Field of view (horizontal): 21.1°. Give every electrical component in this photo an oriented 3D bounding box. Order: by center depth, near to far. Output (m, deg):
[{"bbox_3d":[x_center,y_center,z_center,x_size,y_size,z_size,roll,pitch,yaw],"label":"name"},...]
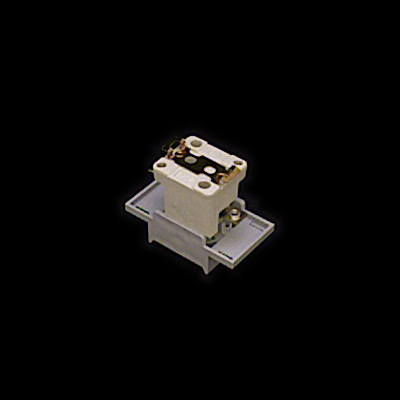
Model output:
[{"bbox_3d":[0.000,0.000,0.630,0.080,0.064,0.042,27,48,26],"label":"electrical component"}]
